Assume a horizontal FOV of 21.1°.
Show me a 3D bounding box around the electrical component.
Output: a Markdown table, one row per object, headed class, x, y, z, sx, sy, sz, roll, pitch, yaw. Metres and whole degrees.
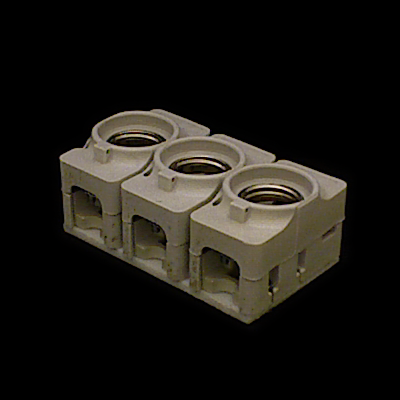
| class | x | y | z | sx | sy | sz | roll | pitch | yaw |
| --- | --- | --- | --- | --- | --- | --- | --- | --- | --- |
| electrical component | 0.000 | 0.000 | 0.639 | 0.148 | 0.063 | 0.088 | 23 | 38 | 33 |
